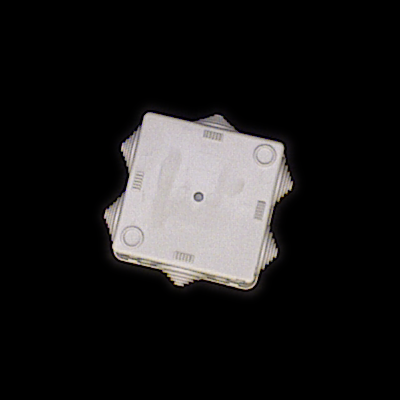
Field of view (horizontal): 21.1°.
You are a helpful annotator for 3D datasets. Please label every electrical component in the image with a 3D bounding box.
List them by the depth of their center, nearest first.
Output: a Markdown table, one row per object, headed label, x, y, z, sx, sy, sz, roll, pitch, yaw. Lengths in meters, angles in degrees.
| label | x | y | z | sx | sy | sz | roll | pitch | yaw |
| --- | --- | --- | --- | --- | --- | --- | --- | --- | --- |
| electrical component | 0.000 | 0.000 | 0.632 | 0.100 | 0.100 | 0.048 | 13 | -7 | 1 |
